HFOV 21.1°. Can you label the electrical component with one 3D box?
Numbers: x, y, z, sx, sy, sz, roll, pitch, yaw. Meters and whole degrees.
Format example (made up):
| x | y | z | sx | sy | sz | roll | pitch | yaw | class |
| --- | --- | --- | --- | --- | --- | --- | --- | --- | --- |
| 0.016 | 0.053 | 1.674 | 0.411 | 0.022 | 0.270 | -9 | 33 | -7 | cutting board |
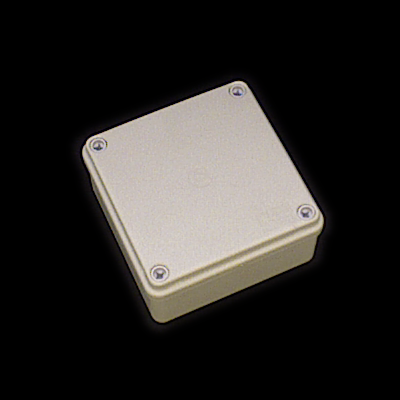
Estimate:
| x | y | z | sx | sy | sz | roll | pitch | yaw | class |
| --- | --- | --- | --- | --- | --- | --- | --- | --- | --- |
| 0.000 | 0.000 | 0.629 | 0.109 | 0.108 | 0.056 | -22 | -26 | -11 | electrical component |
